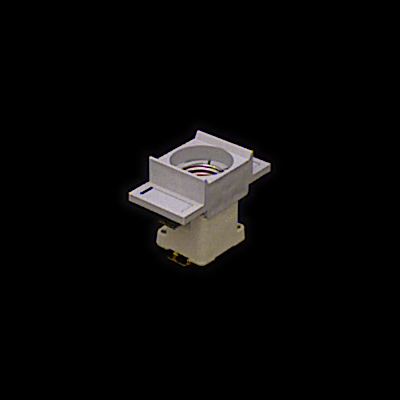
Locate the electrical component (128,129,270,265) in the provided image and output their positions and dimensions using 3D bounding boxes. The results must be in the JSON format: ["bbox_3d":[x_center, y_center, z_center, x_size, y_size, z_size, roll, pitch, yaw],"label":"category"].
[{"bbox_3d":[0.000,0.000,0.635,0.042,0.064,0.080,23,38,34],"label":"electrical component"}]
